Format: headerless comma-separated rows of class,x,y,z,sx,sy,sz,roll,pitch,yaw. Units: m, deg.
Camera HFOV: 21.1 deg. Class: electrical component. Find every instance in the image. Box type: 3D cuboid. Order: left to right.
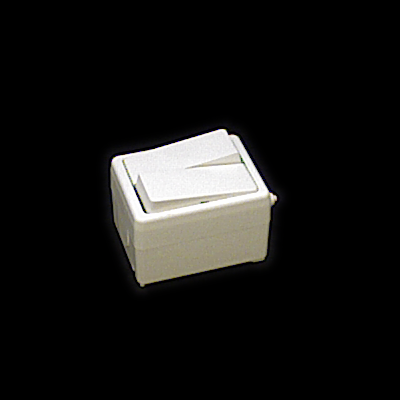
electrical component,0.000,0.000,0.631,0.096,0.061,0.061,-11,43,-13
